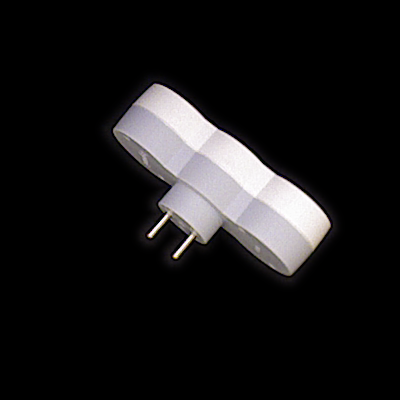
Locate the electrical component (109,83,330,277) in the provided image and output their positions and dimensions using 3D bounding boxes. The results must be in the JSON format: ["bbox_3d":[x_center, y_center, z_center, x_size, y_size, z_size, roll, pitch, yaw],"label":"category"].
[{"bbox_3d":[0.000,0.000,0.630,0.138,0.074,0.052,39,-11,10],"label":"electrical component"}]
